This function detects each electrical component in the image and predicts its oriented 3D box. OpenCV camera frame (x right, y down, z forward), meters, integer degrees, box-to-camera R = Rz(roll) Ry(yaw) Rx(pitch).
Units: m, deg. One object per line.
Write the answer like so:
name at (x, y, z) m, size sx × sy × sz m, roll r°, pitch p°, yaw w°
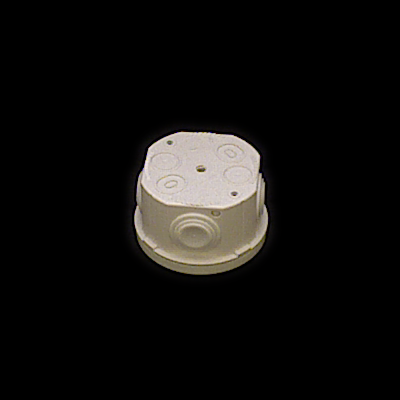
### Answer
electrical component at (0.000, 0.000, 0.635) m, size 0.080 × 0.051 × 0.080 m, roll 0°, pitch 42°, yaw 0°
